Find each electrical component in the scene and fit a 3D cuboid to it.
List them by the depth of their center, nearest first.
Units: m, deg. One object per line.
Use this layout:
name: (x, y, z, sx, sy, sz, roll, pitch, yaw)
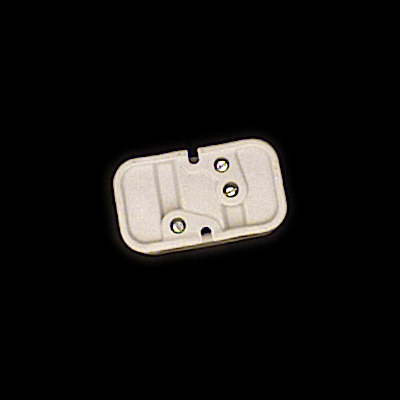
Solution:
electrical component: (0.000, 0.000, 0.637, 0.095, 0.054, 0.059, -10, -6, 0)
